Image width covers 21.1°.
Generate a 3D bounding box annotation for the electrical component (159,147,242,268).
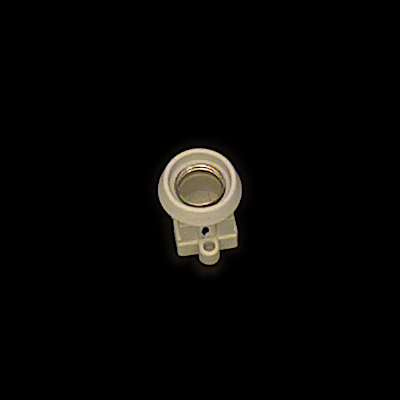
[{"bbox_3d":[0.000,0.000,0.637,0.048,0.066,0.055,-10,-26,-6],"label":"electrical component"}]
